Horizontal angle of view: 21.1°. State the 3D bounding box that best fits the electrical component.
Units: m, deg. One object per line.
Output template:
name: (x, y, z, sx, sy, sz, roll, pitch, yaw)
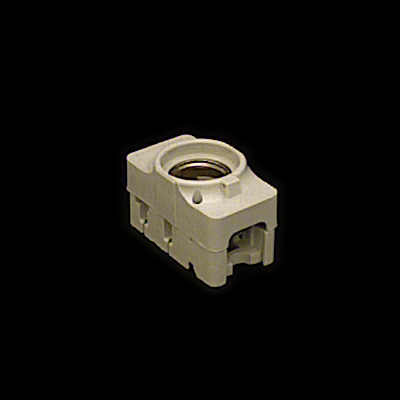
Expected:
electrical component: (0.000, 0.000, 0.642, 0.050, 0.056, 0.088, -22, 39, -32)
